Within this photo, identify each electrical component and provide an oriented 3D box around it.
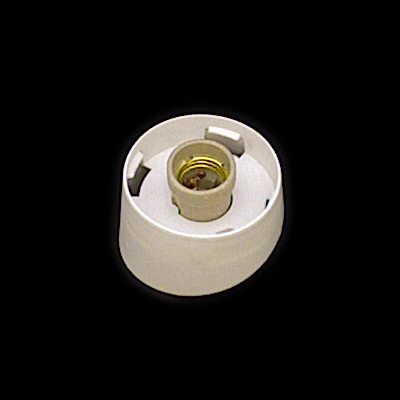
[{"bbox_3d":[0.000,0.000,0.627,0.099,0.098,0.064,0,-37,0],"label":"electrical component"}]
